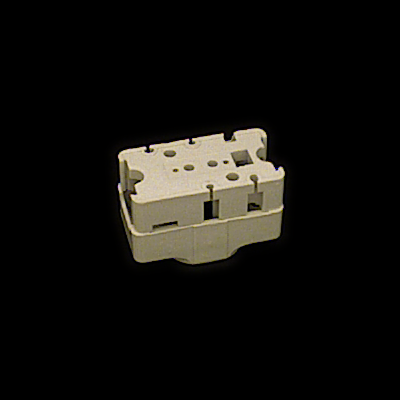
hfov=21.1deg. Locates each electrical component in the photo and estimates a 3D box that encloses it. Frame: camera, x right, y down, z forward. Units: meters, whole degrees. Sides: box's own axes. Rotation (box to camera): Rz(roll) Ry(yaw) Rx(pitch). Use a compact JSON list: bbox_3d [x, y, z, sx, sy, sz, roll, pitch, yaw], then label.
[{"bbox_3d":[0.000,0.000,0.640,0.090,0.056,0.049,-9,43,-12],"label":"electrical component"}]
